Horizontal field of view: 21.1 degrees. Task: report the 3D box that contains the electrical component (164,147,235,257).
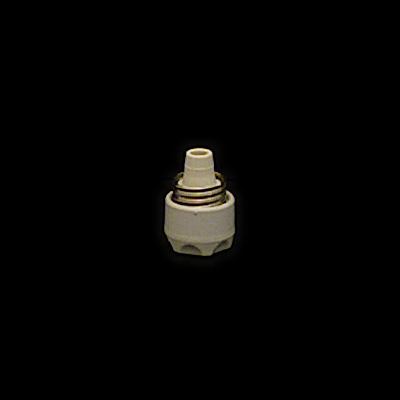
[{"bbox_3d":[0.000,0.000,0.645,0.043,0.063,0.043,0,23,1],"label":"electrical component"}]
